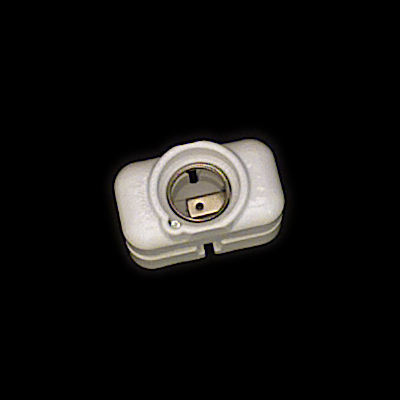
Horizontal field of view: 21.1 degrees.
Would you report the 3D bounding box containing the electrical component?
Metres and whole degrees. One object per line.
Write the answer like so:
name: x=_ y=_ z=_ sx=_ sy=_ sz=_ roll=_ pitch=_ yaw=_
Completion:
electrical component: x=0.000 y=0.000 z=0.633 sx=0.095 sy=0.054 sz=0.059 roll=-13 pitch=-16 yaw=-3
